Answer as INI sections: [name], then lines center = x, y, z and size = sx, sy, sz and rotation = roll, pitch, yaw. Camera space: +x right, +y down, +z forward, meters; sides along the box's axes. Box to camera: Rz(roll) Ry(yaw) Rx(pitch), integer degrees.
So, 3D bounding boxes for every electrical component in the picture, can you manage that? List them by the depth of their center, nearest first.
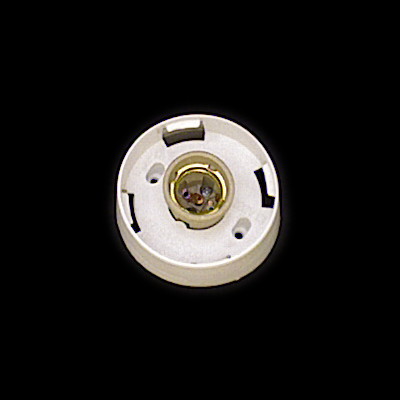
[electrical component]
center = 0.000, 0.000, 0.624
size = 0.099, 0.099, 0.063
rotation = 0, -17, 0
